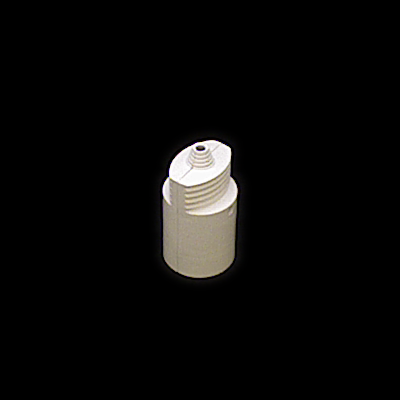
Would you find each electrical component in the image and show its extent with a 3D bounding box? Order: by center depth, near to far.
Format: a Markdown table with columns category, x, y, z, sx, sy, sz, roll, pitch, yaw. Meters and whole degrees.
| category | x | y | z | sx | sy | sz | roll | pitch | yaw |
| --- | --- | --- | --- | --- | --- | --- | --- | --- | --- |
| electrical component | 0.000 | 0.000 | 0.623 | 0.043 | 0.082 | 0.042 | 0 | 42 | 0 |
